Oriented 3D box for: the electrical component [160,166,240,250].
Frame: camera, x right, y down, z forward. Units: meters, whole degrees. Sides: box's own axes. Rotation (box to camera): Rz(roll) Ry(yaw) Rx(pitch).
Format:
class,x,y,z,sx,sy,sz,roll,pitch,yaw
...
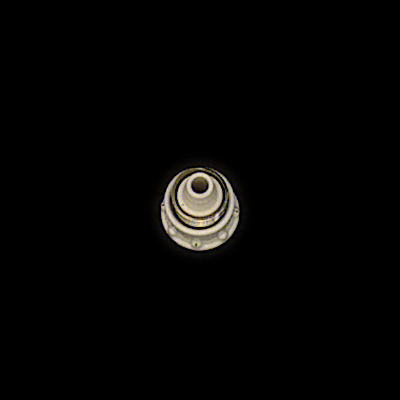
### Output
class,x,y,z,sx,sy,sz,roll,pitch,yaw
electrical component,0.000,0.000,0.634,0.048,0.048,0.061,0,-17,-1
